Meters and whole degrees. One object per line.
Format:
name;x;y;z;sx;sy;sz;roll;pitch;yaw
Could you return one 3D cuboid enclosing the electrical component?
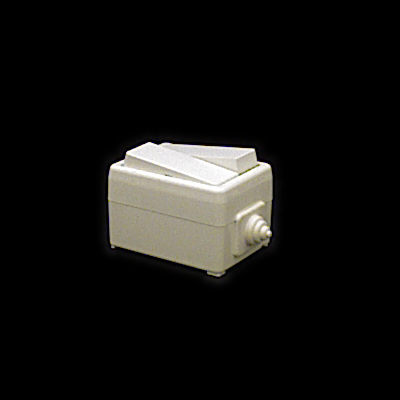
electrical component;0.000;0.000;0.638;0.096;0.061;0.061;13;24;30
